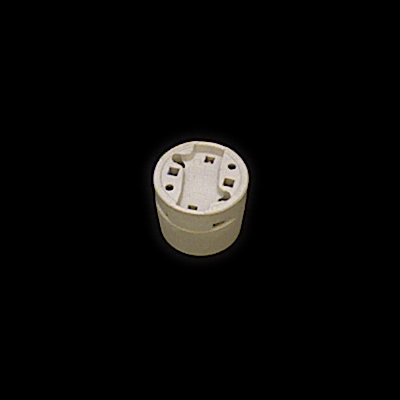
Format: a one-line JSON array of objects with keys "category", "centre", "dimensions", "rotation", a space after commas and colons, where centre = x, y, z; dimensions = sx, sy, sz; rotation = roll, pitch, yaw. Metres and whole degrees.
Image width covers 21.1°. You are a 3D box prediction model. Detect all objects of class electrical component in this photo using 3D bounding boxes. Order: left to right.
[{"category": "electrical component", "centre": [0.000, 0.000, 0.635], "dimensions": [0.055, 0.055, 0.047], "rotation": [0, -38, -1]}]
